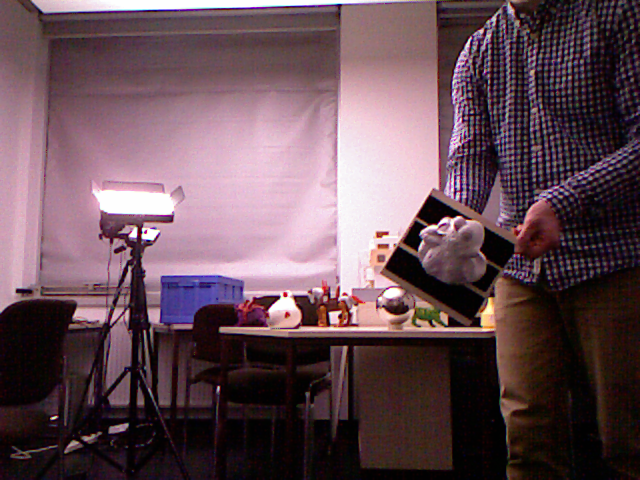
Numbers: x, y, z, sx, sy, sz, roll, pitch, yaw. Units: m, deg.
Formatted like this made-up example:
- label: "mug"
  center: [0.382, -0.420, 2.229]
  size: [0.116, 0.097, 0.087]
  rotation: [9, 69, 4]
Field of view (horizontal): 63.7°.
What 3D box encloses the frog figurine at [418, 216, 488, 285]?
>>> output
- label: "frog figurine"
  center: [0.253, 0.023, 0.957]
  size: [0.123, 0.138, 0.159]
  rotation: [-43, -4, -3]
